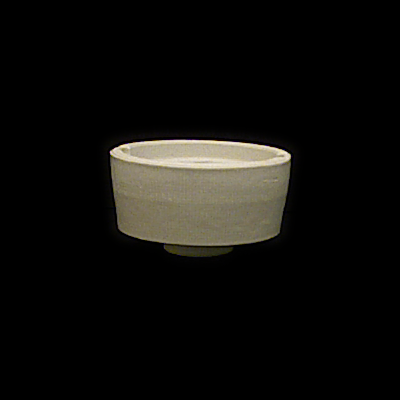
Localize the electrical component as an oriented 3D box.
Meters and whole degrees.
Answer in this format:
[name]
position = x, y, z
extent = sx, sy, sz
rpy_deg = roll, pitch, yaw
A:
[electrical component]
position = 0.000, 0.000, 0.648
extent = 0.108, 0.061, 0.107
rpy_deg = 2, 11, 0
